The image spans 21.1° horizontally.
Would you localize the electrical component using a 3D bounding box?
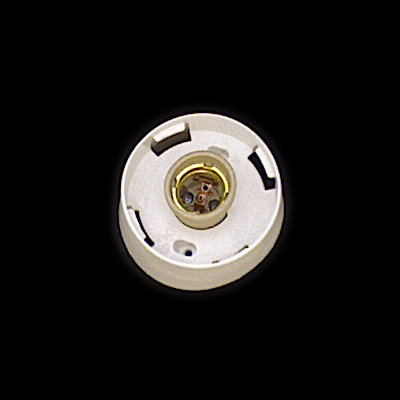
[{"bbox_3d":[0.000,0.000,0.625,0.099,0.099,0.064,0,-17,0],"label":"electrical component"}]
